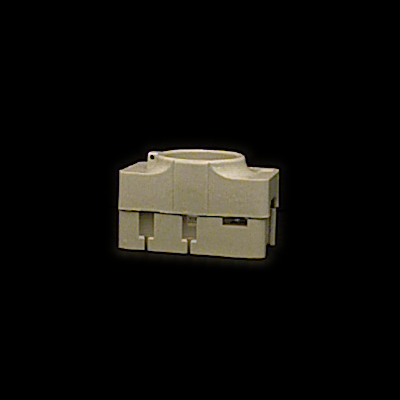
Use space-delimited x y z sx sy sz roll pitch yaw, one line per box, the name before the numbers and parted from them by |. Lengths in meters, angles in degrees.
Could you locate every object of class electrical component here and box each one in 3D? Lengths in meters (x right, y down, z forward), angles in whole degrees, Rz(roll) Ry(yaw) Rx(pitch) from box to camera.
electrical component | 0.000 0.000 0.652 0.089 0.056 0.050 4 12 11
